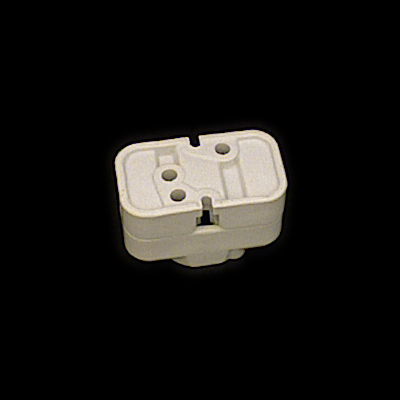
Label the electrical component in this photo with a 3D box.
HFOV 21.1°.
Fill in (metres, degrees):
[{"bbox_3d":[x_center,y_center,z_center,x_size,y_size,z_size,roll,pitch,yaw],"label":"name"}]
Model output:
[{"bbox_3d":[0.000,0.000,0.635,0.095,0.053,0.059,-7,-37,-6],"label":"electrical component"}]
